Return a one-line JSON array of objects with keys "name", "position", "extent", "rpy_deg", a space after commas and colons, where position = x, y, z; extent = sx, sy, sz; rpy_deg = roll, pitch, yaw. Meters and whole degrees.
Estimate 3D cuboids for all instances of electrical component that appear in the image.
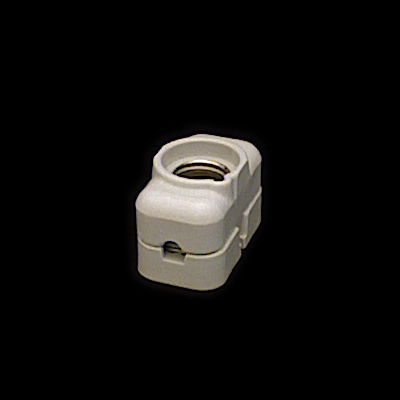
[{"name": "electrical component", "position": [0.000, 0.000, 0.641], "extent": [0.053, 0.060, 0.094], "rpy_deg": [11, 34, 17]}]
